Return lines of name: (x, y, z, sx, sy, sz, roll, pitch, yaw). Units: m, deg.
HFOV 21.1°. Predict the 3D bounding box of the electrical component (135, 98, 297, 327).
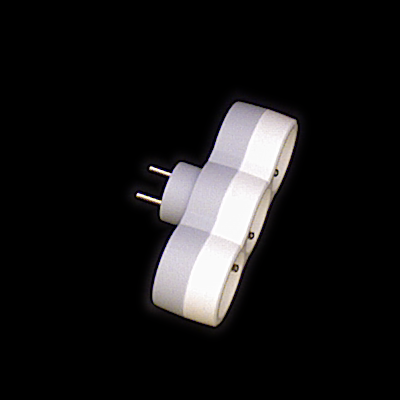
electrical component: (0.000, 0.000, 0.629, 0.073, 0.139, 0.052, 19, -25, 11)
